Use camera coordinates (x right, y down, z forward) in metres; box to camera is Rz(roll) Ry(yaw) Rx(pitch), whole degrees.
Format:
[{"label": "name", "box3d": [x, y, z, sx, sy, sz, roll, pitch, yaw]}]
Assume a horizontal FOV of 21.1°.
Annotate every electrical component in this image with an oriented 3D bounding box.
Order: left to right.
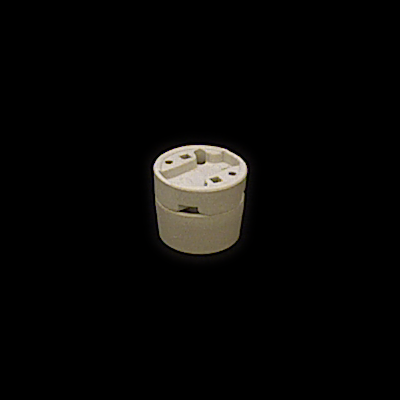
[{"label": "electrical component", "box3d": [0.000, 0.000, 0.640, 0.055, 0.047, 0.055, 1, 32, 0]}]
